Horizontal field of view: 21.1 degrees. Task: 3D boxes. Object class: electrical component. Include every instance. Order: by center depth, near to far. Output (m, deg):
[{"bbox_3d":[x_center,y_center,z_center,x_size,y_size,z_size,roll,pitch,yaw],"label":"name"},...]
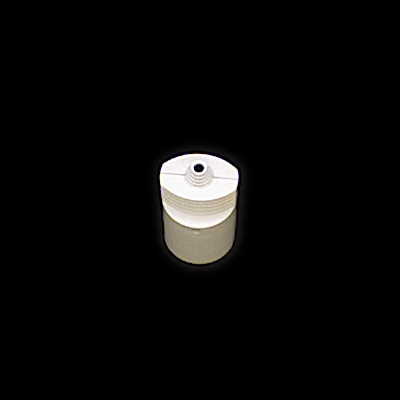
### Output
[{"bbox_3d":[0.000,0.000,0.617,0.043,0.043,0.081,0,-27,0],"label":"electrical component"}]
